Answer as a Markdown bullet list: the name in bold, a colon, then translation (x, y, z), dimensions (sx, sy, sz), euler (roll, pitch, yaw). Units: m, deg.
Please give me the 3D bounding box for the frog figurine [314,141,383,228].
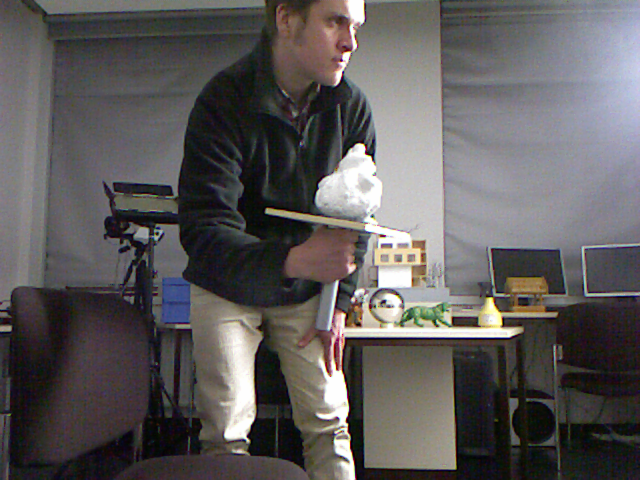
- **frog figurine**: translation (0.059, -0.112, 0.976), dimensions (0.123, 0.159, 0.138), euler (8, 3, -41)
